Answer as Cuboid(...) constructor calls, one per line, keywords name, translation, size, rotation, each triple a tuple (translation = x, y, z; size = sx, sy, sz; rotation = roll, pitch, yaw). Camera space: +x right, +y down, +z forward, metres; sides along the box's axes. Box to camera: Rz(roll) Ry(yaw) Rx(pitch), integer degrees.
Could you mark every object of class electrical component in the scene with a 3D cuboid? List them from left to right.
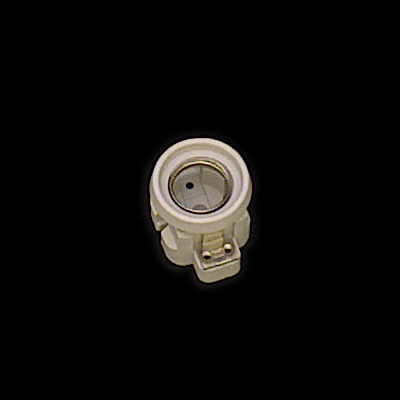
Cuboid(name="electrical component", translation=(0.000, 0.000, 0.628), size=(0.058, 0.078, 0.057), rotation=(-18, -25, -9))
